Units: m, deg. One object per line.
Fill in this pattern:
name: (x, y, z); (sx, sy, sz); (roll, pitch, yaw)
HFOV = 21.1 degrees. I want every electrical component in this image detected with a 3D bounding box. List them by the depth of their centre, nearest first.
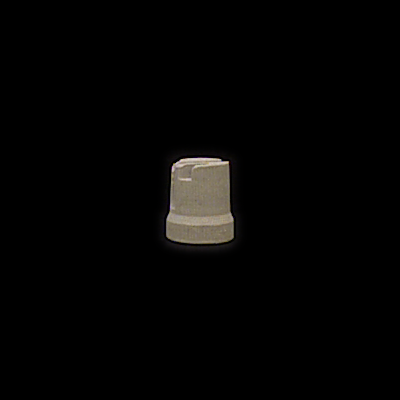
electrical component: (0.000, 0.000, 0.646); (0.040, 0.046, 0.040); (1, 11, 0)
